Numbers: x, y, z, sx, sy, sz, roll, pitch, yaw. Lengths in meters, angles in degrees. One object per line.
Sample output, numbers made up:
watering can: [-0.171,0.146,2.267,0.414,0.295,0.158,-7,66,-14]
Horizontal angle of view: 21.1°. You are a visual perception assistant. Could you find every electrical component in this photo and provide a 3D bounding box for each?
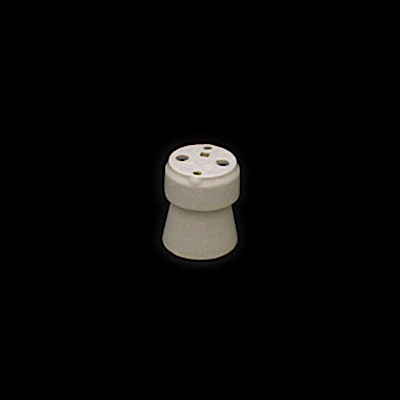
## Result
electrical component: [0.000,0.000,0.635,0.045,0.056,0.044,1,32,0]
